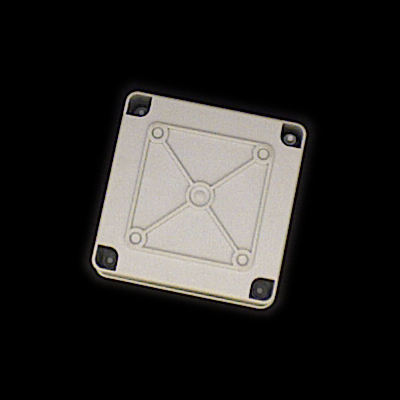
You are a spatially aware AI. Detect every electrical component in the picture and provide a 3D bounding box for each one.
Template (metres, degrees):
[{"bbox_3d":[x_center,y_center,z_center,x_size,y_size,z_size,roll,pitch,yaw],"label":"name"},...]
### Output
[{"bbox_3d":[0.000,0.000,0.629,0.109,0.109,0.056,11,-7,1],"label":"electrical component"}]
